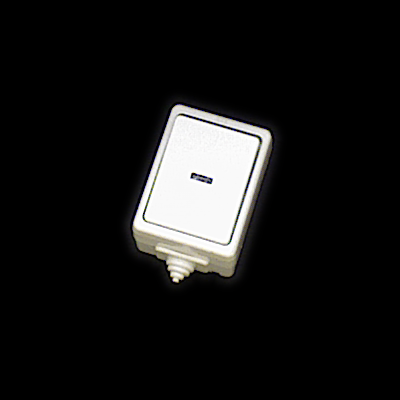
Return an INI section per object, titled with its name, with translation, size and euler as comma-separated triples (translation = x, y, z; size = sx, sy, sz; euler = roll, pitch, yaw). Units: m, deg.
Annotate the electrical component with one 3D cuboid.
[electrical component]
translation = 0.000, 0.000, 0.625
size = 0.062, 0.097, 0.060
euler = 16, -16, 5
